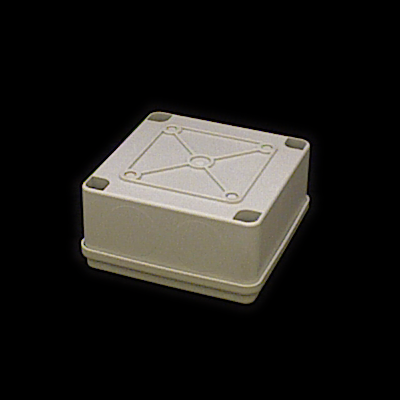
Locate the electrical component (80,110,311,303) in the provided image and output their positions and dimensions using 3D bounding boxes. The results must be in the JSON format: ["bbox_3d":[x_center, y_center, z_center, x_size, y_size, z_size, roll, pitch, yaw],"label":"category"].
[{"bbox_3d":[0.000,0.000,0.634,0.108,0.057,0.107,12,34,17],"label":"electrical component"}]
